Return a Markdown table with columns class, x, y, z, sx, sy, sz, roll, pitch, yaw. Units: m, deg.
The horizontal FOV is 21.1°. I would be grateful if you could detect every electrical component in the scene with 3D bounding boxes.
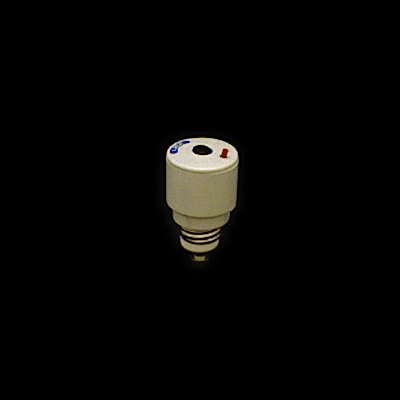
| class | x | y | z | sx | sy | sz | roll | pitch | yaw |
| --- | --- | --- | --- | --- | --- | --- | --- | --- | --- |
| electrical component | 0.000 | 0.000 | 0.628 | 0.040 | 0.079 | 0.039 | 1 | 31 | -1 |
